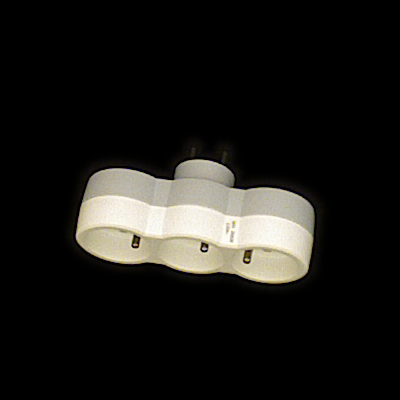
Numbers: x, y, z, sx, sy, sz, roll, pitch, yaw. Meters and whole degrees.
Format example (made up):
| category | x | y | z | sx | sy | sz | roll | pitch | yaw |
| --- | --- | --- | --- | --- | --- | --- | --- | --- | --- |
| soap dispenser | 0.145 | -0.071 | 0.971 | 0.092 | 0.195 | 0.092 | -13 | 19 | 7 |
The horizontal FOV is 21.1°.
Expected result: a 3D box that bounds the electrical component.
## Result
| category | x | y | z | sx | sy | sz | roll | pitch | yaw |
| --- | --- | --- | --- | --- | --- | --- | --- | --- | --- |
| electrical component | 0.000 | 0.000 | 0.639 | 0.138 | 0.074 | 0.052 | 8 | -28 | 3 |
